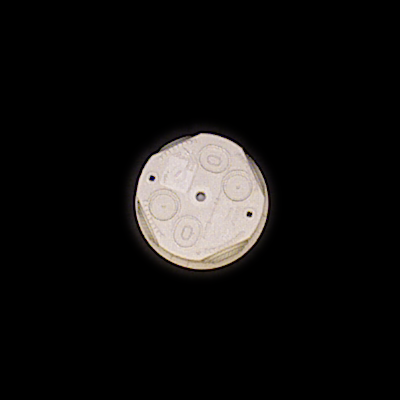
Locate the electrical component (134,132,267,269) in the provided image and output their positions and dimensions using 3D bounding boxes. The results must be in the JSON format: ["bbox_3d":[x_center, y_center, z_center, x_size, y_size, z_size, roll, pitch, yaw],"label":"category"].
[{"bbox_3d":[0.000,0.000,0.633,0.080,0.080,0.050,0,-7,1],"label":"electrical component"}]
